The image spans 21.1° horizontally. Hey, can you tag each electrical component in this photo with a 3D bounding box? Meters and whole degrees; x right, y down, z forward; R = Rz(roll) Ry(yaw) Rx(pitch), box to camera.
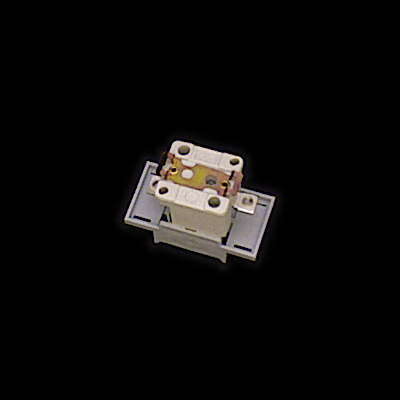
[{"bbox_3d":[0.000,0.000,0.625,0.081,0.042,0.063,16,-26,7],"label":"electrical component"}]
